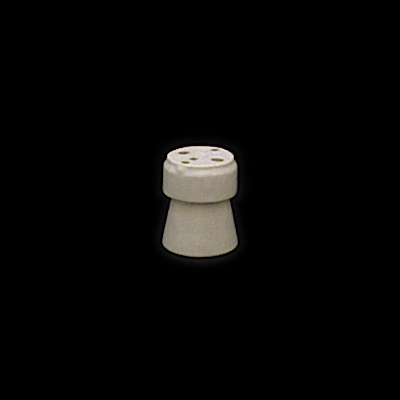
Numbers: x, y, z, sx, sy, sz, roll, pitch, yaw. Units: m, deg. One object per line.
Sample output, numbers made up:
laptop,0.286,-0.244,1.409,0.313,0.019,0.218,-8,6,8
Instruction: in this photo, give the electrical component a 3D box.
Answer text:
electrical component,0.000,0.000,0.640,0.045,0.056,0.044,1,21,0
